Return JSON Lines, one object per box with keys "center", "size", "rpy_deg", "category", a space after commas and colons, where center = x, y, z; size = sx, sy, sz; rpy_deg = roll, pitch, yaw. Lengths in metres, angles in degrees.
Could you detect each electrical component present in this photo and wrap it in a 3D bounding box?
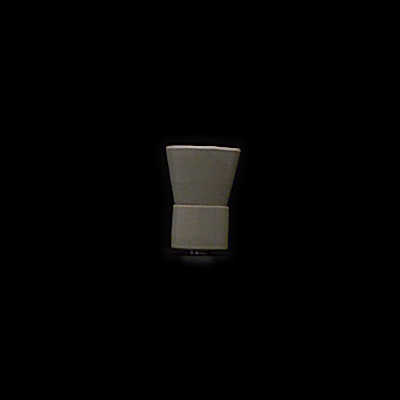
{"center": [0.000, 0.000, 0.649], "size": [0.044, 0.065, 0.044], "rpy_deg": [2, 1, 0], "category": "electrical component"}
